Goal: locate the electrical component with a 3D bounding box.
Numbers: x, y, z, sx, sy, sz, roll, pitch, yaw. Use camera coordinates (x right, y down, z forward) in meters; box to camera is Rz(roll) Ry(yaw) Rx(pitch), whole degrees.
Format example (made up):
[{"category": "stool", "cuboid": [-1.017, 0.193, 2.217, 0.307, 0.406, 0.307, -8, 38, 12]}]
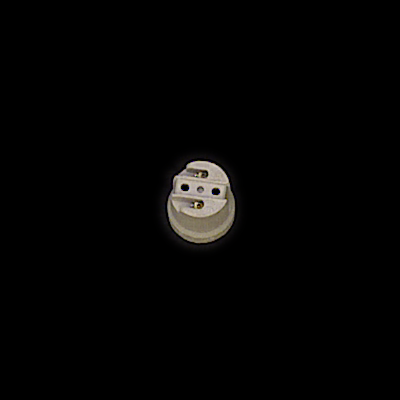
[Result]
[{"category": "electrical component", "cuboid": [0.000, 0.000, 0.633, 0.040, 0.040, 0.046, 0, -17, 0]}]
